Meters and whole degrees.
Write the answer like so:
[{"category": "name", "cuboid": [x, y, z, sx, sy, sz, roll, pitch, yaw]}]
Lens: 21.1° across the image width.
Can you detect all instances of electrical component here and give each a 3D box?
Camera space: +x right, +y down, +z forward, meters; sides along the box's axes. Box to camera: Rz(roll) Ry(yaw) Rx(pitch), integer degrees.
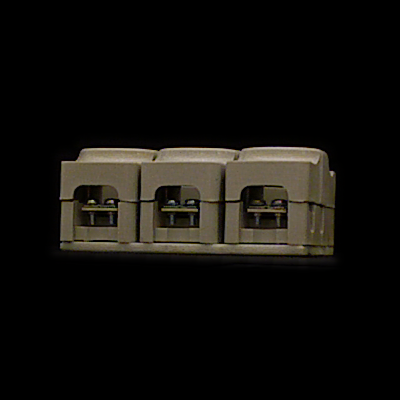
[{"category": "electrical component", "cuboid": [0.000, 0.000, 0.658, 0.150, 0.062, 0.090, 2, -1, 17]}]
